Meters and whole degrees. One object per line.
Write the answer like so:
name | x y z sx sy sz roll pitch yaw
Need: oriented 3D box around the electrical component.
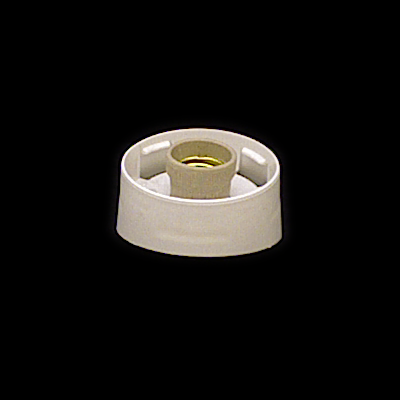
electrical component | 0.000 0.000 0.633 0.099 0.065 0.097 1 31 0
